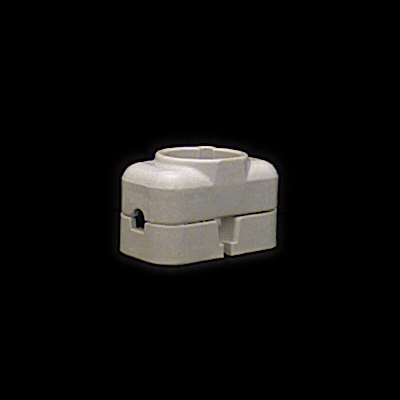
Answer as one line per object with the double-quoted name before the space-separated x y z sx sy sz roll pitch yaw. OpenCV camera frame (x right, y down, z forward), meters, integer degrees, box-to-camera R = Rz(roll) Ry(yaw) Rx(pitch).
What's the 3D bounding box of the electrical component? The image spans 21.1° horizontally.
"electrical component" 0.000 0.000 0.652 0.096 0.060 0.053 -8 15 -40
